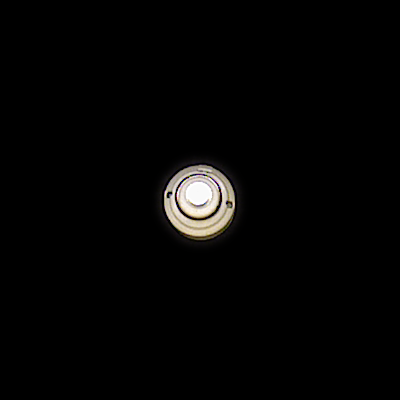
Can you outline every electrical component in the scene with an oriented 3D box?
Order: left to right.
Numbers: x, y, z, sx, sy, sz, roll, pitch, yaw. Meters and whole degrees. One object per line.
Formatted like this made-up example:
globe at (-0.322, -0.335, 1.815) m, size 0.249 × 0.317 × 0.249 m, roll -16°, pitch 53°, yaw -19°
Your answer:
electrical component at (0.000, 0.000, 0.618) m, size 0.040 × 0.040 × 0.078 m, roll 0°, pitch -6°, yaw 1°
